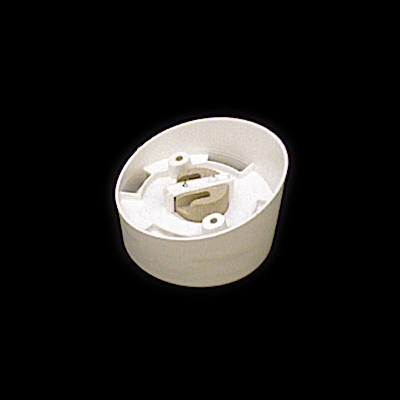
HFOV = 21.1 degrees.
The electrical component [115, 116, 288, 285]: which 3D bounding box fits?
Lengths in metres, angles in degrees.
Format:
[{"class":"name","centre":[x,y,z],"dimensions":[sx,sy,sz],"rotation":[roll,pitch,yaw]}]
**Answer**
[{"class":"electrical component","centre":[0.000,0.000,0.630],"dimensions":[0.099,0.065,0.097],"rotation":[1,41,-1]}]
